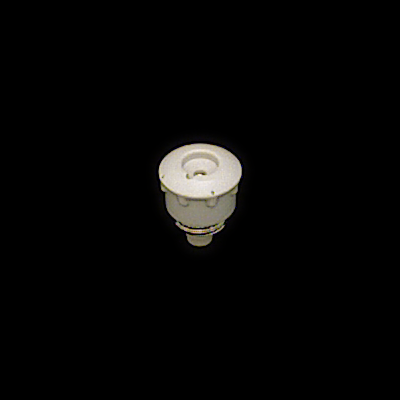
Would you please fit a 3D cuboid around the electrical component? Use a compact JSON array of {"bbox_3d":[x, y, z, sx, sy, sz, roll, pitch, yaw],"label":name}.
[{"bbox_3d":[0.000,0.000,0.636,0.048,0.062,0.047,0,43,0],"label":"electrical component"}]
